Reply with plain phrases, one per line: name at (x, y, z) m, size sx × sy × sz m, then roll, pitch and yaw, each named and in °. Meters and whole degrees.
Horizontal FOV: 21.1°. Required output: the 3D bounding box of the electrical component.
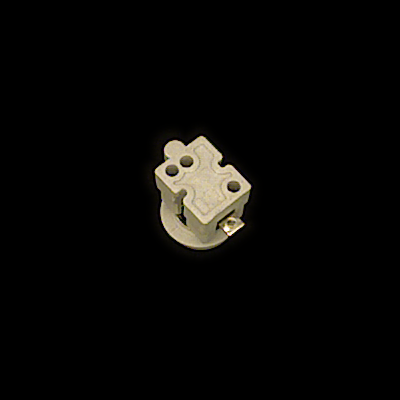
electrical component at (0.000, 0.000, 0.637) m, size 0.049 × 0.066 × 0.055 m, roll -37°, pitch -20°, yaw -18°
